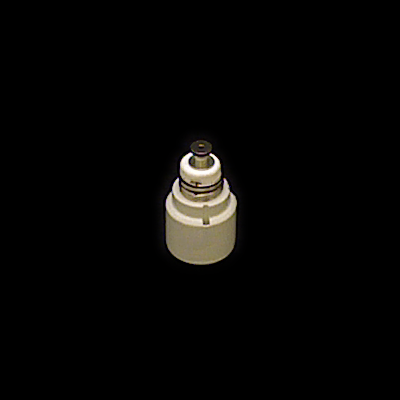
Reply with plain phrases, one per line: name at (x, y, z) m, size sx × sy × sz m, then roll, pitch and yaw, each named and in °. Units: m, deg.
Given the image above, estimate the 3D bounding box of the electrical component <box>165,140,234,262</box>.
electrical component at (0.000, 0.000, 0.623) m, size 0.040 × 0.079 × 0.039 m, roll 0°, pitch 41°, yaw 0°
